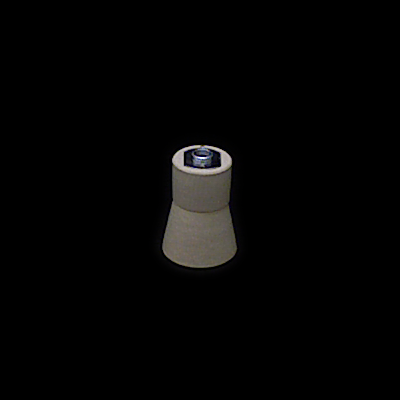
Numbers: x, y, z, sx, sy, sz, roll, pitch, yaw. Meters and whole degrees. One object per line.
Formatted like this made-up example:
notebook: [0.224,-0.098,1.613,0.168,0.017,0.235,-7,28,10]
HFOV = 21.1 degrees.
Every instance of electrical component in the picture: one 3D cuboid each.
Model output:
electrical component: [0.000,0.000,0.632,0.044,0.066,0.044,2,31,-1]
